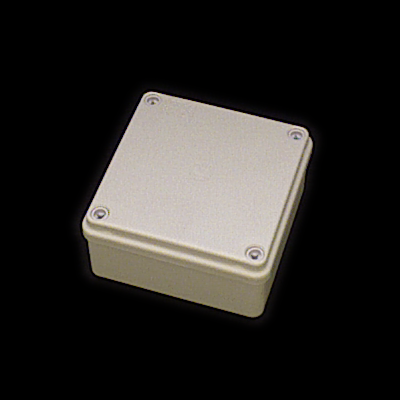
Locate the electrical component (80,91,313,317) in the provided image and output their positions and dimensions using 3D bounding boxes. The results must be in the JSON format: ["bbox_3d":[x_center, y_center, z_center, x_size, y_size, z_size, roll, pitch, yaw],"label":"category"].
[{"bbox_3d":[0.000,0.000,0.629,0.108,0.108,0.056,14,-36,10],"label":"electrical component"}]
